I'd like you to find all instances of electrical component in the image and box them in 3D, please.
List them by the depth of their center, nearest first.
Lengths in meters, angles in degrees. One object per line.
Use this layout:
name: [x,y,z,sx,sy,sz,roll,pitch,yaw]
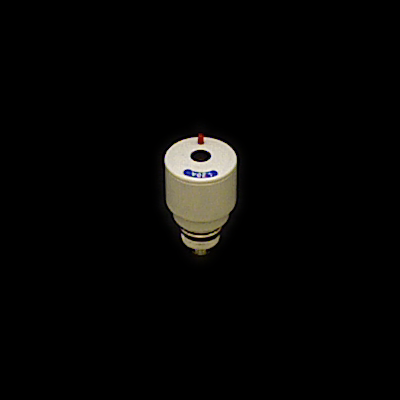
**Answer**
electrical component: [0.000,0.000,0.626,0.040,0.079,0.039,0,41,0]
